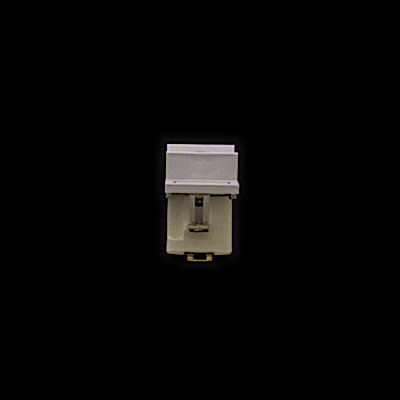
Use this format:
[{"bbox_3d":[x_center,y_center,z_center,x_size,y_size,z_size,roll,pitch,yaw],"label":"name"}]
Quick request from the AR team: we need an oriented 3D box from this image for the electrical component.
[{"bbox_3d":[0.000,0.000,0.641,0.042,0.064,0.080,2,10,-1],"label":"electrical component"}]
